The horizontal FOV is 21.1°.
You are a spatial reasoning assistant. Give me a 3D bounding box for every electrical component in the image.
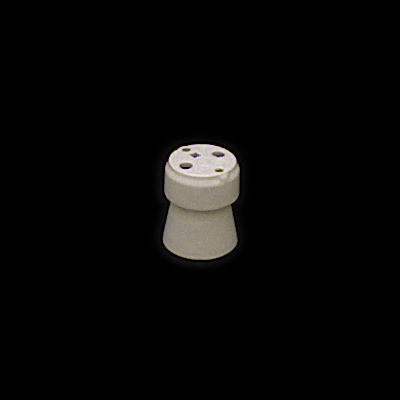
[{"bbox_3d":[0.000,0.000,0.636,0.045,0.056,0.044,1,32,-1],"label":"electrical component"}]
